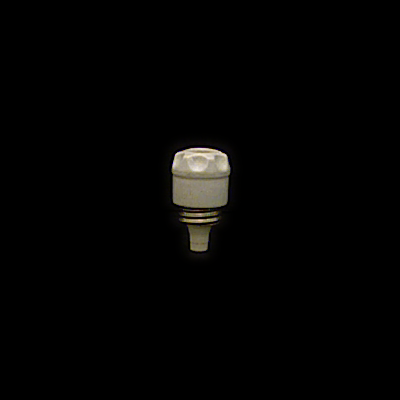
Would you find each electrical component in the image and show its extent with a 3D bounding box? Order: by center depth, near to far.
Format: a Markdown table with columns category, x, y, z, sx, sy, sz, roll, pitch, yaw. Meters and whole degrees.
| category | x | y | z | sx | sy | sz | roll | pitch | yaw |
| --- | --- | --- | --- | --- | --- | --- | --- | --- | --- |
| electrical component | 0.000 | 0.000 | 0.650 | 0.035 | 0.062 | 0.035 | 1 | 12 | 0 |
